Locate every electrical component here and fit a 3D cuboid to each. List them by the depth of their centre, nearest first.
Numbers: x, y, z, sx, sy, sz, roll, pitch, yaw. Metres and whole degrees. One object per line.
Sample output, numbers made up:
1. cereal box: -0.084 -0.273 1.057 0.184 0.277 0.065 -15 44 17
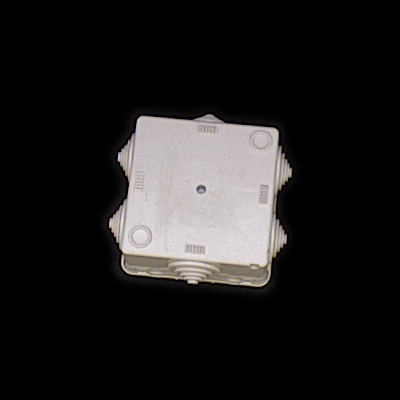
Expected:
1. electrical component: 0.000 0.000 0.631 0.100 0.100 0.048 5 -17 2
